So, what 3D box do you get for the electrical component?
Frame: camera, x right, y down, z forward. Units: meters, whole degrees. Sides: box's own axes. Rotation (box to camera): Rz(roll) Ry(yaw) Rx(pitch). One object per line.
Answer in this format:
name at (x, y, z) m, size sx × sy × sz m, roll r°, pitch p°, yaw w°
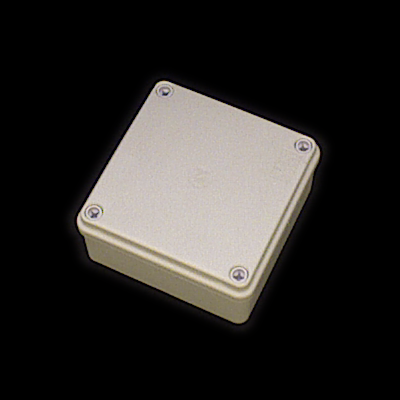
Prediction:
electrical component at (0.000, 0.000, 0.629) m, size 0.108 × 0.109 × 0.056 m, roll 23°, pitch -25°, yaw 12°
